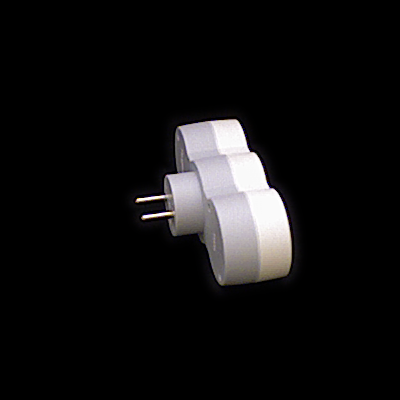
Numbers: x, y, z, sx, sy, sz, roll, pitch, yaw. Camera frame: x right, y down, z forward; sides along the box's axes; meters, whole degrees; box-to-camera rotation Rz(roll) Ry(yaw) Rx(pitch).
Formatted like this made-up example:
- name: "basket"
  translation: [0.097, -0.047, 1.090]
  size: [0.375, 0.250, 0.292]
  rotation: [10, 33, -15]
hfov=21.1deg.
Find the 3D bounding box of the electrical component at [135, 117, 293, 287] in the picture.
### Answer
- name: "electrical component"
  translation: [0.000, 0.000, 0.634]
  size: [0.074, 0.053, 0.137]
  rotation: [-8, 34, -10]
